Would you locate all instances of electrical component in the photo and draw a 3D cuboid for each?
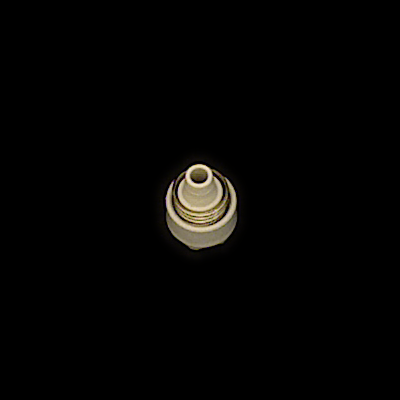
[{"bbox_3d":[0.000,0.000,0.634,0.043,0.043,0.062,0,-28,1],"label":"electrical component"}]
